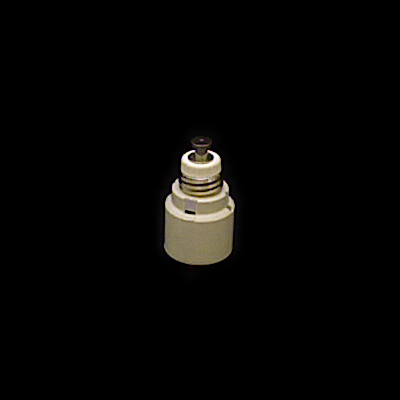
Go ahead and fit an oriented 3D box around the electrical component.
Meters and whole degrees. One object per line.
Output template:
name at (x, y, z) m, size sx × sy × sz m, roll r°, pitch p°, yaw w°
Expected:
electrical component at (0.000, 0.000, 0.630) m, size 0.040 × 0.079 × 0.039 m, roll 2°, pitch 31°, yaw -1°
